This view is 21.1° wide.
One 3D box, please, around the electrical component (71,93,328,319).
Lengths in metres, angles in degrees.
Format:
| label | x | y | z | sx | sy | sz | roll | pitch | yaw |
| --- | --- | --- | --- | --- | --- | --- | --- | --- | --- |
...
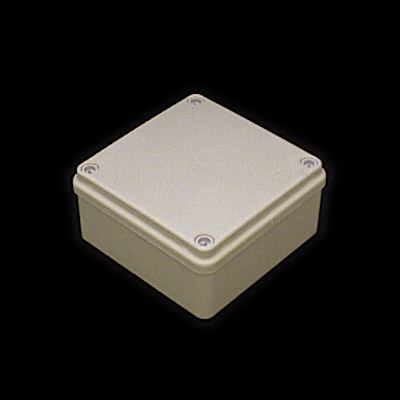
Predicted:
| label | x | y | z | sx | sy | sz | roll | pitch | yaw |
| --- | --- | --- | --- | --- | --- | --- | --- | --- | --- |
| electrical component | 0.000 | 0.000 | 0.632 | 0.108 | 0.056 | 0.108 | 31 | 50 | 30 |
